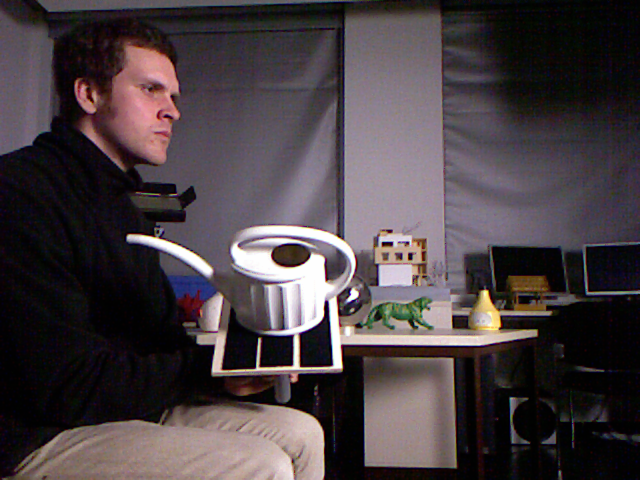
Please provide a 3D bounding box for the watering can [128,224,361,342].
[{"bbox_3d":[-0.111,0.062,0.822,0.348,0.219,0.107,1,40,1],"label":"watering can"}]
